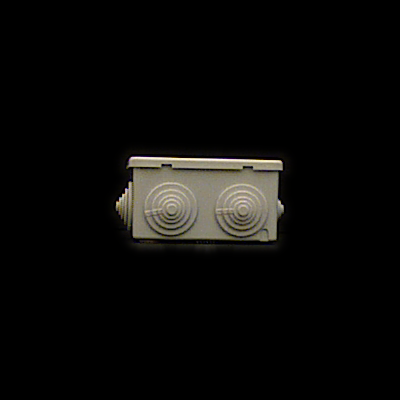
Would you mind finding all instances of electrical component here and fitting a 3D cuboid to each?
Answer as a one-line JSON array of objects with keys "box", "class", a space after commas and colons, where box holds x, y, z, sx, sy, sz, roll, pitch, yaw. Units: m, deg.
[{"box": [0.000, 0.000, 0.655, 0.100, 0.048, 0.099, 1, 1, -5], "class": "electrical component"}]
